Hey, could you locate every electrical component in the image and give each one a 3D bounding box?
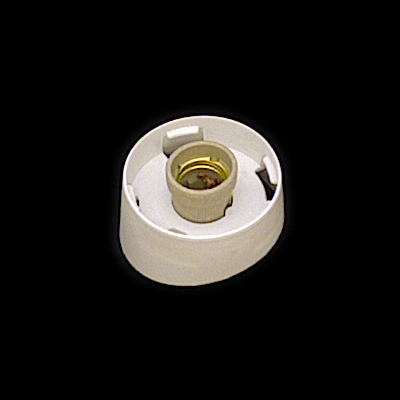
[{"bbox_3d":[0.000,0.000,0.627,0.099,0.098,0.064,0,-38,0],"label":"electrical component"}]
